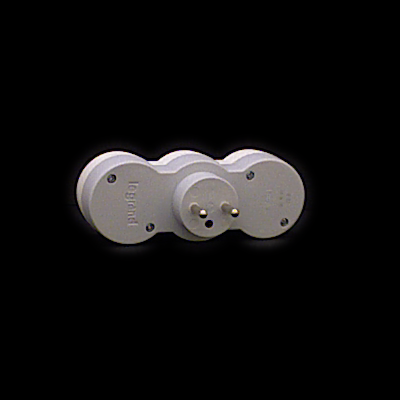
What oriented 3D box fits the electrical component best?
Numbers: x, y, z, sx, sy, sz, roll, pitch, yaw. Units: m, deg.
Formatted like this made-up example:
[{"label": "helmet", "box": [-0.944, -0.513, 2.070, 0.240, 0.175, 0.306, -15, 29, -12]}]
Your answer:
[{"label": "electrical component", "box": [0.000, 0.000, 0.646, 0.138, 0.052, 0.073, -1, 13, -19]}]
